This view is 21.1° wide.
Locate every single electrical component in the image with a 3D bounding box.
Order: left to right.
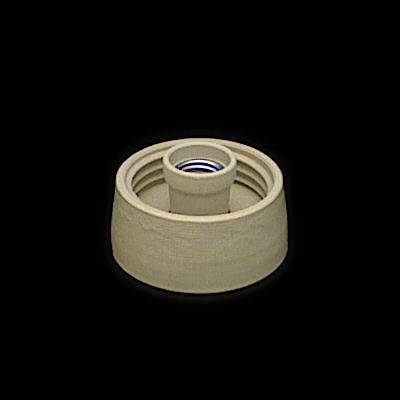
[{"bbox_3d":[0.000,0.000,0.640,0.108,0.061,0.106,1,32,0],"label":"electrical component"}]
